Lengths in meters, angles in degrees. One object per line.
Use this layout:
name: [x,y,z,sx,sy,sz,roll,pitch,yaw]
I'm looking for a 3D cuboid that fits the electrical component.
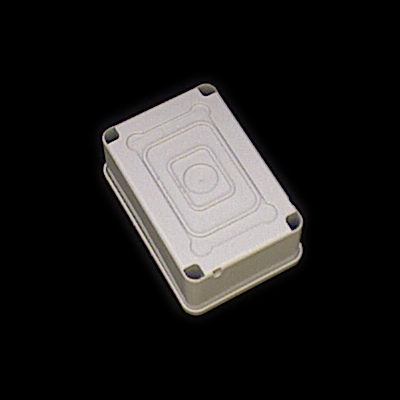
electrical component: [0.000,0.000,0.628,0.078,0.113,0.057,-26,-24,-13]
